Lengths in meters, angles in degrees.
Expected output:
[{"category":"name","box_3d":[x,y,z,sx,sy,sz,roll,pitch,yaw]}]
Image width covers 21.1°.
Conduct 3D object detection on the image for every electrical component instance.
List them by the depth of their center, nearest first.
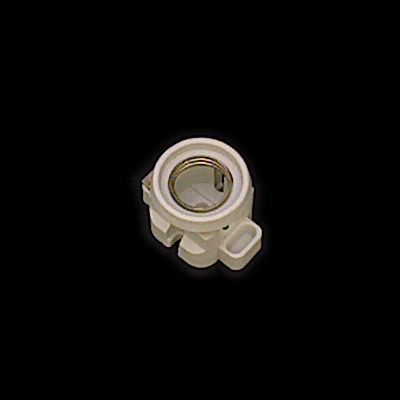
[{"category":"electrical component","box_3d":[0.000,0.000,0.628,0.078,0.058,0.057,37,-21,17]}]
